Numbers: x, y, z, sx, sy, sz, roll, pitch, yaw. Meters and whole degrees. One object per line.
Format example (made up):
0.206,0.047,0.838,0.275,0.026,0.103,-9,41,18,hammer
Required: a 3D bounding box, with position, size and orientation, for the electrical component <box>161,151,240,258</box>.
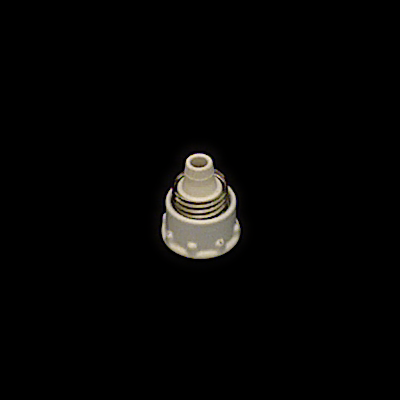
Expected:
0.000,0.000,0.636,0.048,0.062,0.047,0,42,1,electrical component
